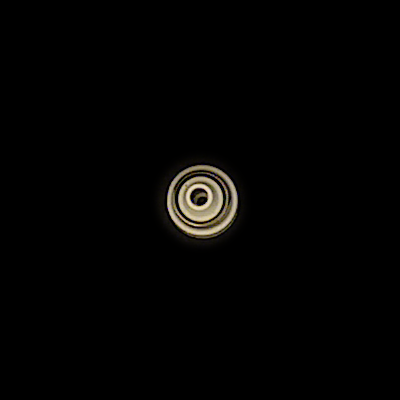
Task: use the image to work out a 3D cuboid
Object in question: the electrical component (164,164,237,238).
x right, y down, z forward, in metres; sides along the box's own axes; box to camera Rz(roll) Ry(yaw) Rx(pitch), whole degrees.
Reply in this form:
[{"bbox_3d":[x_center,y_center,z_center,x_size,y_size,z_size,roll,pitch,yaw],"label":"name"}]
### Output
[{"bbox_3d":[0.000,0.000,0.635,0.043,0.043,0.062,0,-5,2],"label":"electrical component"}]
